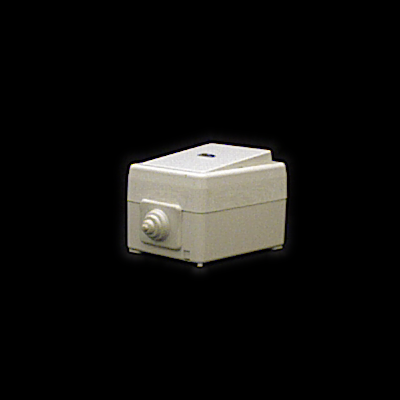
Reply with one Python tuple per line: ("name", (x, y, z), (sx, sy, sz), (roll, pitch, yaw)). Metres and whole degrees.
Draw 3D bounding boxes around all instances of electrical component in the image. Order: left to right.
("electrical component", (0.000, 0.000, 0.643), (0.061, 0.061, 0.096), (10, 14, 41))
